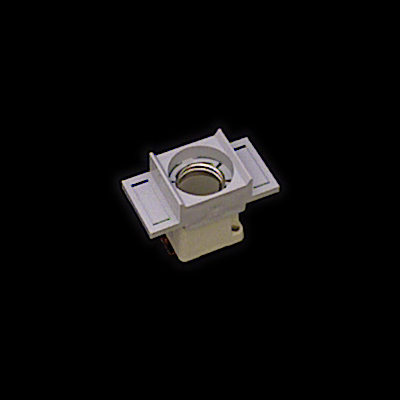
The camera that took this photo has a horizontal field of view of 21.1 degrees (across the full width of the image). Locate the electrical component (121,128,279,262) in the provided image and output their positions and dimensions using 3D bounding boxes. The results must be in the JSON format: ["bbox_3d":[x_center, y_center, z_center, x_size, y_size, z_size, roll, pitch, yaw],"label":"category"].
[{"bbox_3d":[0.000,0.000,0.625,0.081,0.042,0.064,-20,-34,-16],"label":"electrical component"}]
